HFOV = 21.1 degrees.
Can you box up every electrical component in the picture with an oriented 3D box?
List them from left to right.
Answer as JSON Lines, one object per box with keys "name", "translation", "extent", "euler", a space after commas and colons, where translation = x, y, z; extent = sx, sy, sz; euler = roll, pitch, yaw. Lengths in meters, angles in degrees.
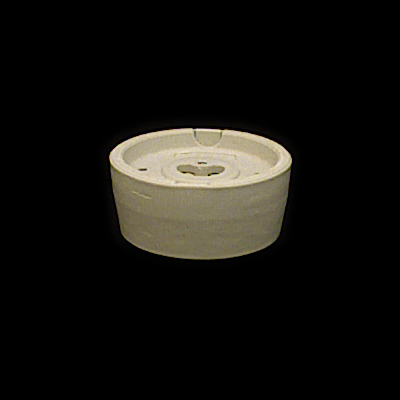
{"name": "electrical component", "translation": [0.000, 0.000, 0.649], "extent": [0.108, 0.061, 0.106], "euler": [1, 22, 0]}
